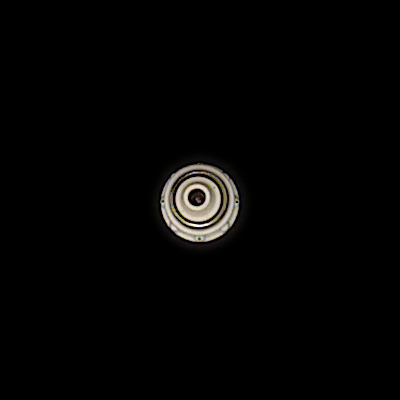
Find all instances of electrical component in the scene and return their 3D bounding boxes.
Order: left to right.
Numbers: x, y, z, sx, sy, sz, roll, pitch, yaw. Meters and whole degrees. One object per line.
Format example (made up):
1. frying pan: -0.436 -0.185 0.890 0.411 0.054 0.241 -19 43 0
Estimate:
1. electrical component: 0.000 0.000 0.634 0.048 0.048 0.062 0 -5 1
